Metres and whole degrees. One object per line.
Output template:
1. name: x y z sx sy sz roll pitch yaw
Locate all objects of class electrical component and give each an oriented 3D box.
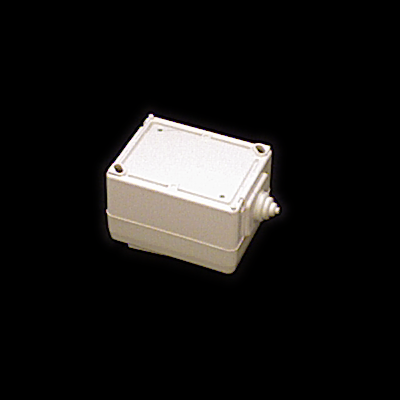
1. electrical component: 0.000 0.000 0.629 0.096 0.061 0.061 16 44 15
